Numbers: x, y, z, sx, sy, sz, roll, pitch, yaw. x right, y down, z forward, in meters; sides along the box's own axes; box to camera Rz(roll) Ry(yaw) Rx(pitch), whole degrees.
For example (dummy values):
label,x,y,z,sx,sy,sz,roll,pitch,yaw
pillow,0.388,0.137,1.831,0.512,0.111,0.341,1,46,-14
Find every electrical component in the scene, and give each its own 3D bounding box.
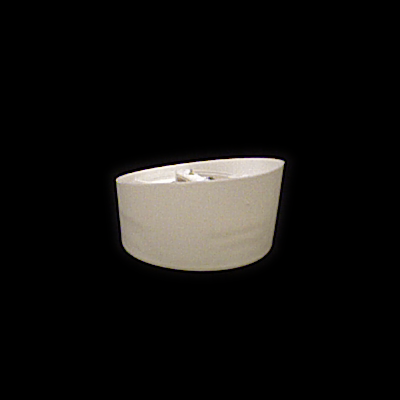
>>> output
label,x,y,z,sx,sy,sz,roll,pitch,yaw
electrical component,0.000,0.000,0.637,0.099,0.065,0.097,2,21,-1
